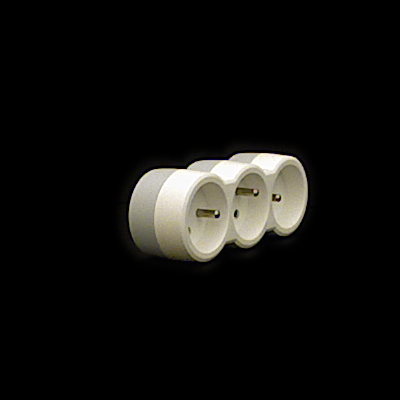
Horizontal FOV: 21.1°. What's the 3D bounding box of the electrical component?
[{"bbox_3d":[0.000,0.000,0.655,0.073,0.052,0.139,7,13,35],"label":"electrical component"}]
